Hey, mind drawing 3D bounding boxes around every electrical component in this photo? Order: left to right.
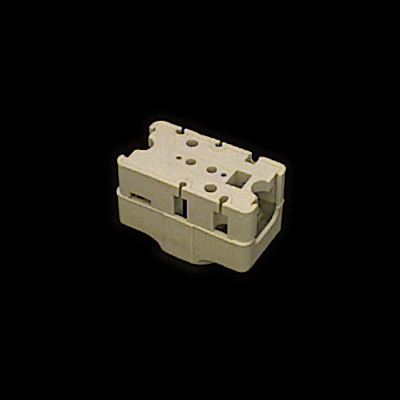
[{"bbox_3d":[0.000,0.000,0.640,0.089,0.056,0.050,22,46,21],"label":"electrical component"}]
